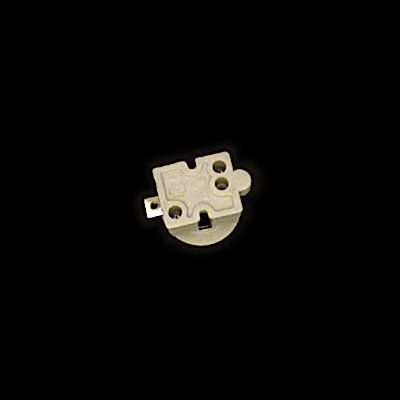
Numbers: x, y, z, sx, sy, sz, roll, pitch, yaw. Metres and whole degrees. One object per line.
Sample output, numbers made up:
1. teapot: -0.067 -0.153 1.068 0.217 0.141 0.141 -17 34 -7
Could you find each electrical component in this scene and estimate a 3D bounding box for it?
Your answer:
1. electrical component: 0.000 0.000 0.638 0.066 0.048 0.055 -13 -14 -3
